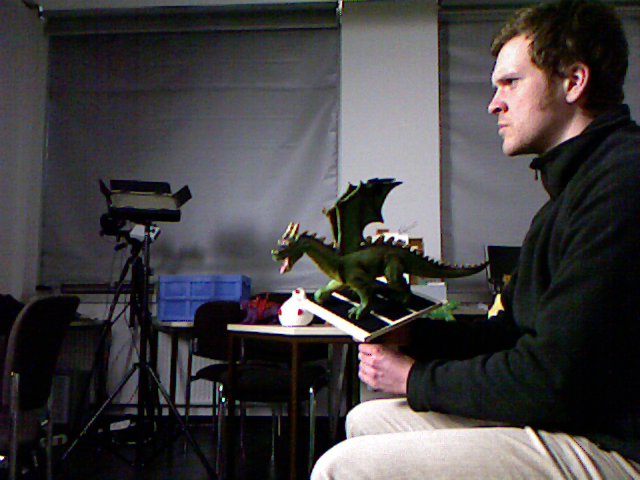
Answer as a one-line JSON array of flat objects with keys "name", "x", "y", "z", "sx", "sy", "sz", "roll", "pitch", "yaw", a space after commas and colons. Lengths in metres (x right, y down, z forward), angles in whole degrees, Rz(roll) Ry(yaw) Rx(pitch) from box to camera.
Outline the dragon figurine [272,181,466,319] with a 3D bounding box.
[{"name": "dragon figurine", "x": 0.103, "y": 0.006, "z": 0.992, "sx": 0.413, "sy": 0.239, "sz": 0.124, "roll": -14, "pitch": 22, "yaw": -20}]
